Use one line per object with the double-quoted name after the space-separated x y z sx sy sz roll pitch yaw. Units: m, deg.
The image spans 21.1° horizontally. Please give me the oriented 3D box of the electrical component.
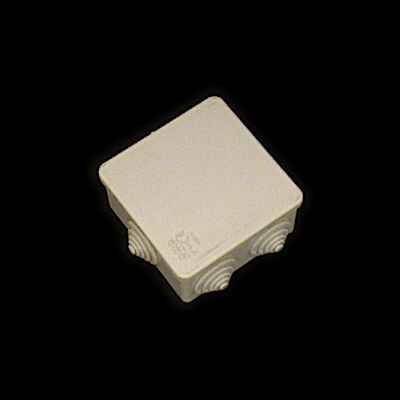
0.000 0.000 0.639 0.100 0.099 0.048 -33 -22 -15 "electrical component"
